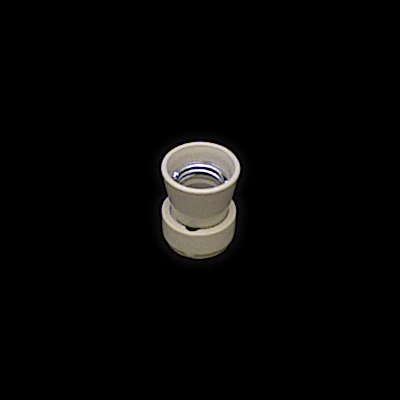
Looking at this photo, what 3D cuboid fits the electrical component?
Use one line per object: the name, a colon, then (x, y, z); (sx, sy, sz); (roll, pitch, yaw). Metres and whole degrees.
electrical component: (0.000, 0.000, 0.633); (0.045, 0.056, 0.044); (1, 42, -1)
